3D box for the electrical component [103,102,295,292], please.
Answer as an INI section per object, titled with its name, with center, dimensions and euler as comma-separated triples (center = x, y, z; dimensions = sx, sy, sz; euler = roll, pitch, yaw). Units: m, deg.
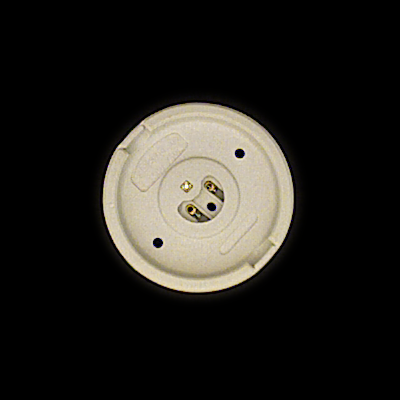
[electrical component]
center = 0.000, 0.000, 0.635
dimensions = 0.108, 0.108, 0.060
euler = 0, -5, 0
